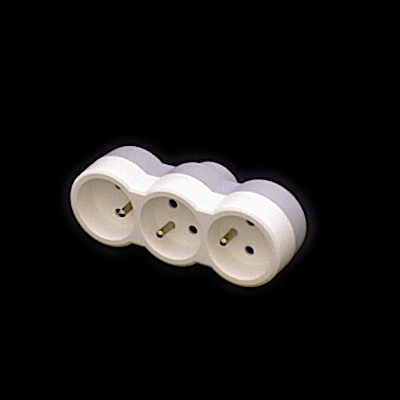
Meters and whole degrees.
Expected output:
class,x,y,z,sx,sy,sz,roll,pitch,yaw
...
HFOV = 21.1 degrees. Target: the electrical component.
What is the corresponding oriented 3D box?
class,x,y,z,sx,sy,sz,roll,pitch,yaw
electrical component,0.000,0.000,0.637,0.137,0.053,0.073,15,32,23
